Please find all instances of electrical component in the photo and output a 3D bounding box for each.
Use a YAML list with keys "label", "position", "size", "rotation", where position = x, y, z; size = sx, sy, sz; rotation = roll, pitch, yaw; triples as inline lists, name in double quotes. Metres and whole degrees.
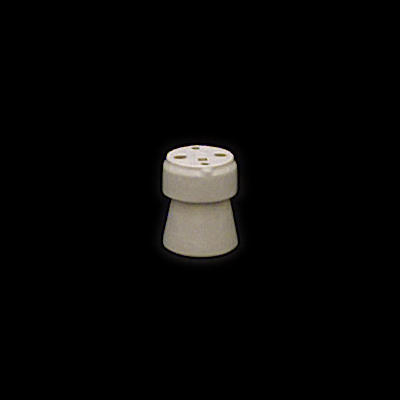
- label: "electrical component"
  position: [0.000, 0.000, 0.639]
  size: [0.045, 0.056, 0.044]
  rotation: [1, 21, 0]
